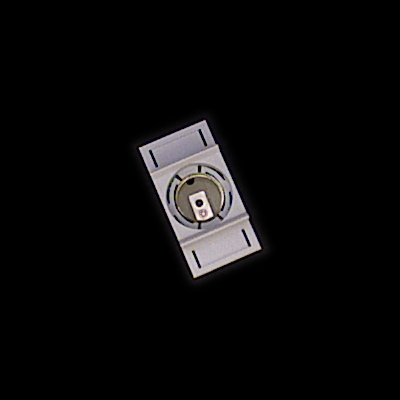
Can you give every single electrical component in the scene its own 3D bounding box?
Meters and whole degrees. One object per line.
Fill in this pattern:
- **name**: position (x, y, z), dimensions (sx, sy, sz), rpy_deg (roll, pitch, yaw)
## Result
- **electrical component**: position (0.000, 0.000, 0.624), dimensions (0.042, 0.081, 0.063), rpy_deg (-23, -6, -3)
